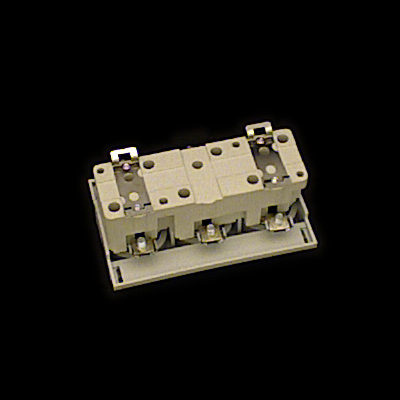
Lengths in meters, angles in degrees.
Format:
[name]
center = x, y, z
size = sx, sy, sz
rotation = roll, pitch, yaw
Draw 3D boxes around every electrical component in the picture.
[electrical component]
center = 0.000, 0.000, 0.633
size = 0.122, 0.078, 0.063
rotation = -12, -35, -9
